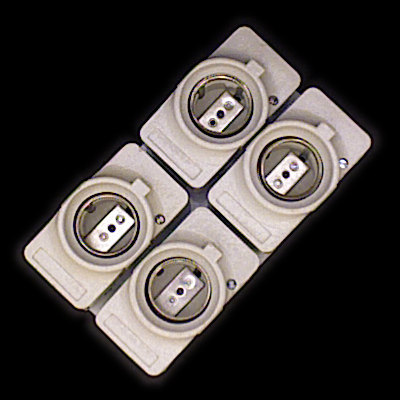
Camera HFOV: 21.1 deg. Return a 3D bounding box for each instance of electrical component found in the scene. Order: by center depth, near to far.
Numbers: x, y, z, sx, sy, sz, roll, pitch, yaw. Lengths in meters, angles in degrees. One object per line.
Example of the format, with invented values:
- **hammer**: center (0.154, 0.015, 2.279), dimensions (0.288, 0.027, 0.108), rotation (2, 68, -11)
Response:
- **electrical component**: center (0.000, 0.000, 0.626), dimensions (0.105, 0.187, 0.060), rotation (43, -5, 5)
